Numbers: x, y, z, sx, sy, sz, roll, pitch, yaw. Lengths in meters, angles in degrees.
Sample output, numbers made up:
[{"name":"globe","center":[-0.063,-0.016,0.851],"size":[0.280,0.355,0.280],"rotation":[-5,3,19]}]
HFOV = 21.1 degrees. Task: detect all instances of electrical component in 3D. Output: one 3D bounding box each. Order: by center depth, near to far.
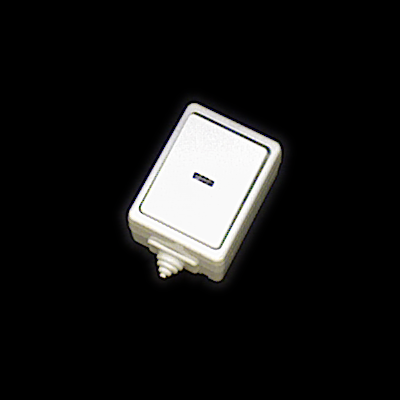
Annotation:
[{"name":"electrical component","center":[0.000,0.000,0.625],"size":[0.062,0.097,0.060],"rotation":[26,-15,8]}]
